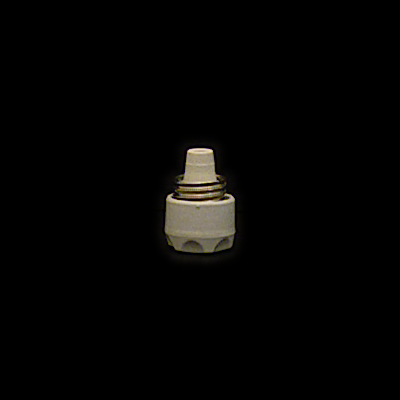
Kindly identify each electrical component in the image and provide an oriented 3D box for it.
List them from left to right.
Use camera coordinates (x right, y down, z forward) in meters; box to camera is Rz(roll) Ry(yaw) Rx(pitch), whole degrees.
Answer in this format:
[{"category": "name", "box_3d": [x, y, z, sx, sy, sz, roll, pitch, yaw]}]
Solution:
[{"category": "electrical component", "box_3d": [0.000, 0.000, 0.650, 0.043, 0.062, 0.043, 0, 12, 1]}]
